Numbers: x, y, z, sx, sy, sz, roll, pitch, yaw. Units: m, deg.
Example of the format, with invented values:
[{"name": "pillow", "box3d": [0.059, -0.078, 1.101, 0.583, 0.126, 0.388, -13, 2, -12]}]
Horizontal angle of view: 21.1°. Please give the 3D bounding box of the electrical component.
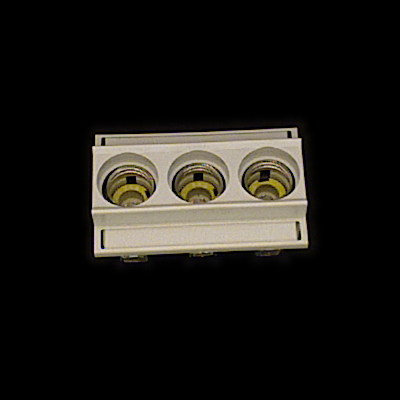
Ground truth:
[{"name": "electrical component", "box3d": [0.000, 0.000, 0.638, 0.121, 0.078, 0.063, -2, -28, -1]}]
